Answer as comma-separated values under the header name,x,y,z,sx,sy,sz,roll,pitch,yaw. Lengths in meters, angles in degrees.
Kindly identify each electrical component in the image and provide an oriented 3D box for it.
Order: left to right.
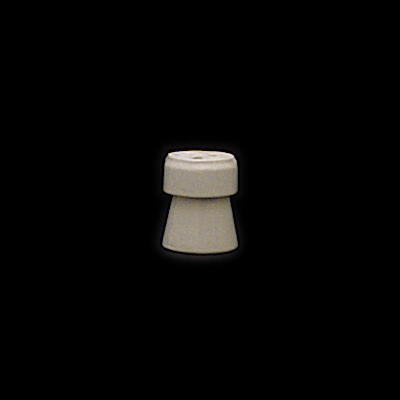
name,x,y,z,sx,sy,sz,roll,pitch,yaw
electrical component,0.000,0.000,0.643,0.045,0.055,0.044,1,11,0
